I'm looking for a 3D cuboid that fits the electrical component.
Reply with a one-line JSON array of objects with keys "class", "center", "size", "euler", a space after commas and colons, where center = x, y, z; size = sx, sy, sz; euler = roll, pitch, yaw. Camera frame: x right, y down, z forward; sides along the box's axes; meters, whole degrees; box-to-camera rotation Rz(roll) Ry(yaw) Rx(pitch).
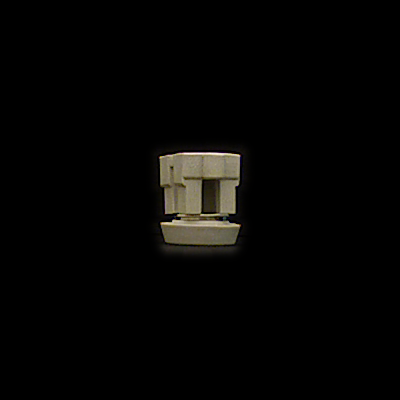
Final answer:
[{"class": "electrical component", "center": [0.000, 0.000, 0.656], "size": [0.049, 0.055, 0.066], "euler": [-1, 1, -21]}]
